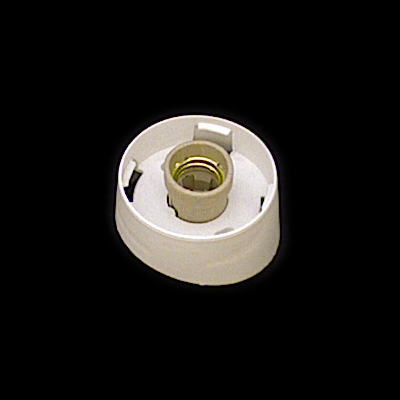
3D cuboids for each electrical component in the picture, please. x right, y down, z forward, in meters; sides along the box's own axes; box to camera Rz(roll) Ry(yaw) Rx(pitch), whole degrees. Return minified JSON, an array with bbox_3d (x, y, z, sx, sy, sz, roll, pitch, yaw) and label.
[{"bbox_3d":[0.000,0.000,0.626,0.099,0.098,0.064,0,-38,-1],"label":"electrical component"}]
